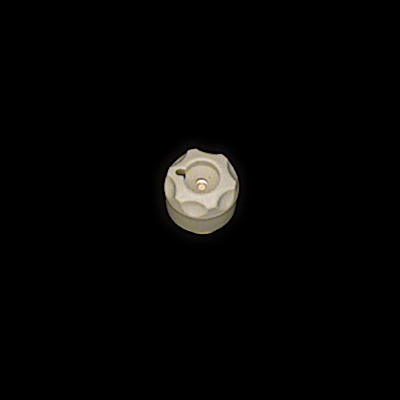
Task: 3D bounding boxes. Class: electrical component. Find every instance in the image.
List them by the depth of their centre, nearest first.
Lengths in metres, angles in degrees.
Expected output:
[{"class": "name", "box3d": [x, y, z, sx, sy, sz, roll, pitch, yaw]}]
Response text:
[{"class": "electrical component", "box3d": [0.000, 0.000, 0.634, 0.043, 0.043, 0.062, 0, -27, -1]}]
